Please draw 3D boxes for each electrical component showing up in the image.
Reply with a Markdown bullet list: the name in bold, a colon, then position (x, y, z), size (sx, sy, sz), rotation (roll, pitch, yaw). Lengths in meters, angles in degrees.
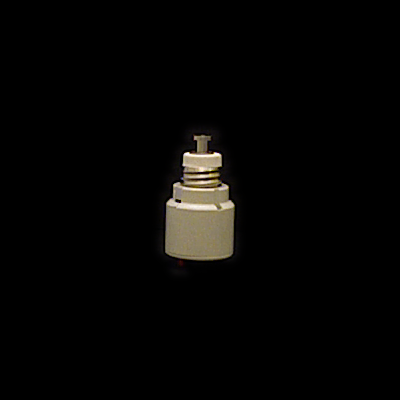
- **electrical component**: position (0.000, 0.000, 0.644), size (0.040, 0.079, 0.040), rotation (2, 12, 0)
